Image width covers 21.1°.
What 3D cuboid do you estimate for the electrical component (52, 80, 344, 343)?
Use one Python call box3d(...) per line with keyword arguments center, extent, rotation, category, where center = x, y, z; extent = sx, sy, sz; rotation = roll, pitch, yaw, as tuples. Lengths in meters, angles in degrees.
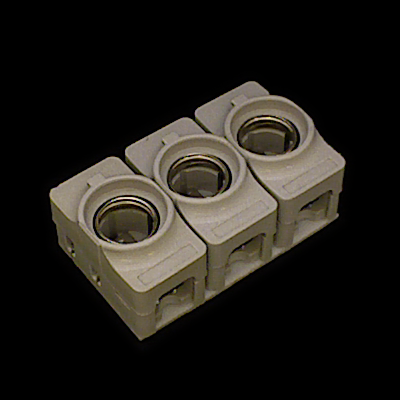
box3d(center=(0.000, 0.000, 0.634), extent=(0.150, 0.088, 0.062), rotation=(-31, -32, -23), category="electrical component")
